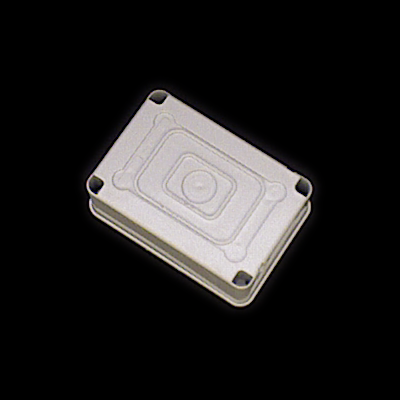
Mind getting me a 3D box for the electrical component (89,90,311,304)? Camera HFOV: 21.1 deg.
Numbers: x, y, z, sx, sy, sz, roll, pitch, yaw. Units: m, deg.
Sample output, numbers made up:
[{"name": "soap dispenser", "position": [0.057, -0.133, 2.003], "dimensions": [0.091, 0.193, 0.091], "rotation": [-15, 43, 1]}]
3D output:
[{"name": "electrical component", "position": [0.000, 0.000, 0.628], "dimensions": [0.113, 0.078, 0.057], "rotation": [32, -14, 9]}]
